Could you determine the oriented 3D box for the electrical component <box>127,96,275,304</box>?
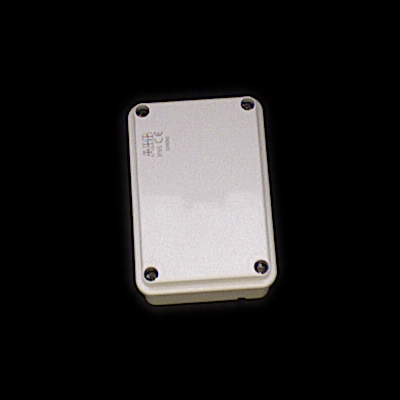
[{"bbox_3d":[0.000,0.000,0.627,0.078,0.113,0.057,-4,-17,-1],"label":"electrical component"}]
